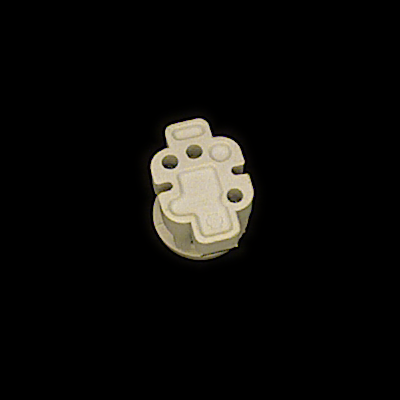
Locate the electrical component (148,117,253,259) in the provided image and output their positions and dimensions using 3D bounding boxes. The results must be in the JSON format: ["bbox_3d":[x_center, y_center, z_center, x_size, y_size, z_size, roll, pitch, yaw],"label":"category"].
[{"bbox_3d":[0.000,0.000,0.635,0.058,0.078,0.056,-14,-24,-8],"label":"electrical component"}]
